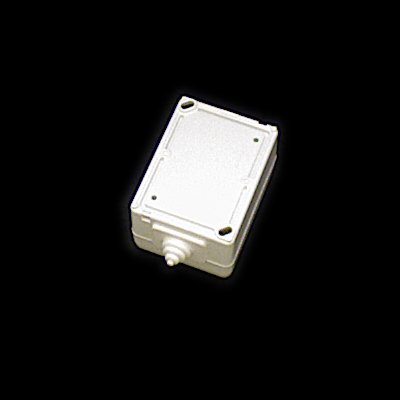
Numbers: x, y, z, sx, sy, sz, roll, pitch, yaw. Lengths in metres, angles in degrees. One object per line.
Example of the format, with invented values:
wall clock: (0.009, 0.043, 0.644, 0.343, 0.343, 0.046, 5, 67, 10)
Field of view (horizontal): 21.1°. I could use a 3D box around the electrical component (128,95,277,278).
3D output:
electrical component: (0.000, 0.000, 0.622, 0.062, 0.097, 0.060, 19, -26, 9)
